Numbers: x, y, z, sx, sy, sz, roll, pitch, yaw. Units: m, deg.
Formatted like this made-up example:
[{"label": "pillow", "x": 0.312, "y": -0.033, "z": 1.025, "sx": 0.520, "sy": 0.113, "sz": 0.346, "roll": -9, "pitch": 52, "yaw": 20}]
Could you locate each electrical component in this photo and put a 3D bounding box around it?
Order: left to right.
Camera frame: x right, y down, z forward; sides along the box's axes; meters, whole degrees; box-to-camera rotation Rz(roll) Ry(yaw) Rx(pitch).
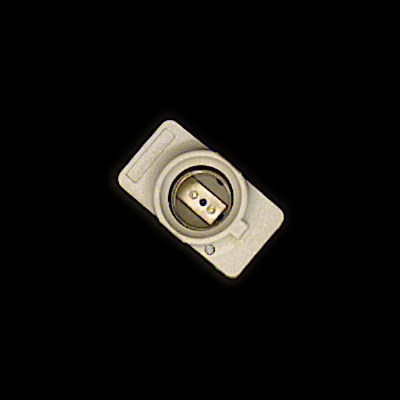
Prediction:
[{"label": "electrical component", "x": 0.000, "y": 0.000, "z": 0.637, "sx": 0.089, "sy": 0.050, "sz": 0.055, "roll": 40, "pitch": -3, "yaw": 4}]
